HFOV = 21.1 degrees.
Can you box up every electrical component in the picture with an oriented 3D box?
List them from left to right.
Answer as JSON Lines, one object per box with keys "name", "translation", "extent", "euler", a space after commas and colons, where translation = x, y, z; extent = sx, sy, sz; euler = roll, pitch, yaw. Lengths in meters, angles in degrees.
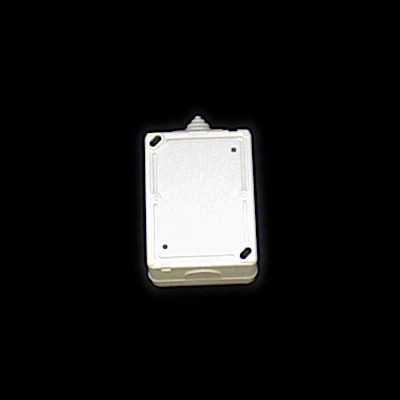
{"name": "electrical component", "translation": [0.001, 0.000, 0.628], "extent": [0.062, 0.096, 0.061], "euler": [-2, -17, 0]}
